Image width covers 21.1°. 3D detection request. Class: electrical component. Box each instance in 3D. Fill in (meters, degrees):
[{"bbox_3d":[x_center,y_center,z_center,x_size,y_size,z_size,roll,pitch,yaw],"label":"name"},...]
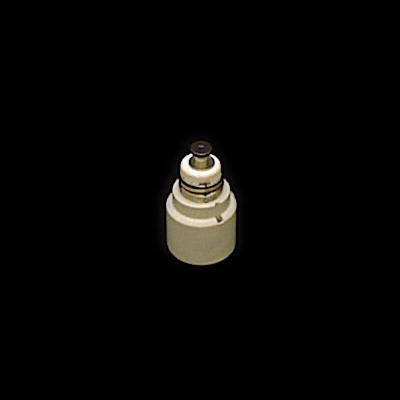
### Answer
[{"bbox_3d":[0.000,0.000,0.623,0.040,0.079,0.039,0,41,0],"label":"electrical component"}]
